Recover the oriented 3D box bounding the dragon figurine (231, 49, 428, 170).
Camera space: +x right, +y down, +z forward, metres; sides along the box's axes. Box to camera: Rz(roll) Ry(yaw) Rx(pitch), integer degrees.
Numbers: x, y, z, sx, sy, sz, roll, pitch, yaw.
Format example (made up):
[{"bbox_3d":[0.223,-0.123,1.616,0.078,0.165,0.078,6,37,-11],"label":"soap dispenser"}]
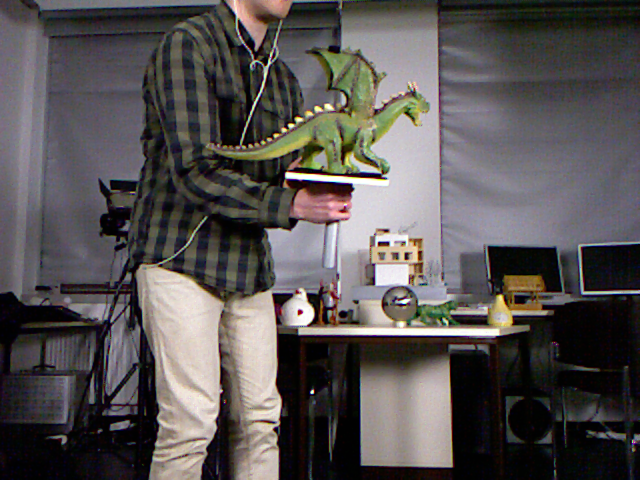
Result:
[{"bbox_3d":[0.032,-0.265,1.060,0.412,0.241,0.124,3,14,-14],"label":"dragon figurine"}]
